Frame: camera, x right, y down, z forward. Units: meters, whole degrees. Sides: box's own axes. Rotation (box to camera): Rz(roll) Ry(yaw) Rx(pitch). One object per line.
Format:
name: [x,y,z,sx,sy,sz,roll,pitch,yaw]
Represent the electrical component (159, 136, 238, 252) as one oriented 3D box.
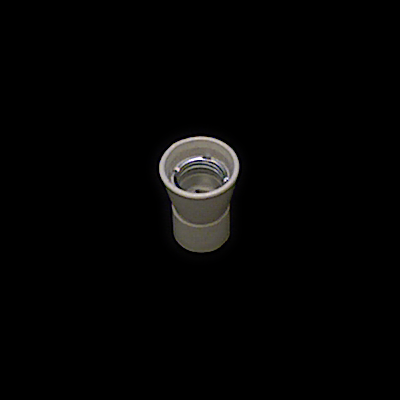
electrical component: [0.000,0.000,0.626,0.044,0.044,0.065,0,-37,1]
